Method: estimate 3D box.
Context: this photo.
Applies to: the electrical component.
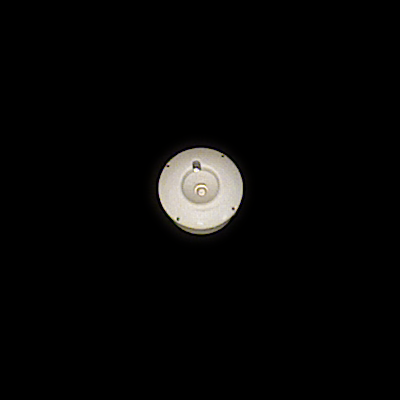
[{"bbox_3d":[0.000,0.000,0.633,0.048,0.048,0.061,0,-16,1],"label":"electrical component"}]
